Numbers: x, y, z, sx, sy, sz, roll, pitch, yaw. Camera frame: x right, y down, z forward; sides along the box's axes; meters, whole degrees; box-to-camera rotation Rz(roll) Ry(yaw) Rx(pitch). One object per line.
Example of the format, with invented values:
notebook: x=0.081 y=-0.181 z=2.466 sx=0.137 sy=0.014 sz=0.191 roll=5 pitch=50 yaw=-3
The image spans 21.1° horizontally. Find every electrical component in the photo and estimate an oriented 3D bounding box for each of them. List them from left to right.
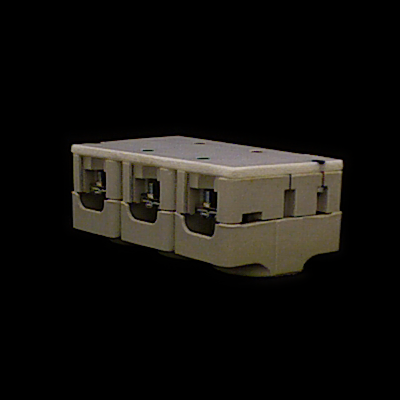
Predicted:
electrical component: x=0.000 y=0.000 z=0.650 sx=0.089 sy=0.062 sz=0.149 roll=-8 pitch=14 yaw=-40
